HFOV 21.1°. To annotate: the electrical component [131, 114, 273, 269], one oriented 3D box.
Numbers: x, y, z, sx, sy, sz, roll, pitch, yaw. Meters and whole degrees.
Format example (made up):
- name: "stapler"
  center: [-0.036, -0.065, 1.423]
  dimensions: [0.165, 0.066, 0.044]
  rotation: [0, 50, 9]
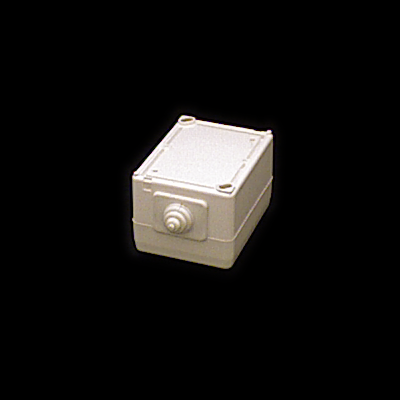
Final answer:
- name: "electrical component"
  center: [0.000, 0.000, 0.634]
  dimensions: [0.061, 0.061, 0.095]
  rotation: [11, 34, 17]
